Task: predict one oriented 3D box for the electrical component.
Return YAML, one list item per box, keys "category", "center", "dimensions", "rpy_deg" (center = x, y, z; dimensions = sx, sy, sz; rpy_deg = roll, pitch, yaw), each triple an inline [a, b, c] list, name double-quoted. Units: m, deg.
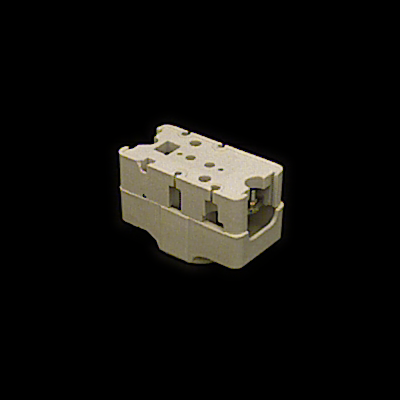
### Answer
- category: "electrical component"
  center: [0.000, 0.000, 0.642]
  dimensions: [0.088, 0.056, 0.050]
  rpy_deg: [22, 39, 30]
